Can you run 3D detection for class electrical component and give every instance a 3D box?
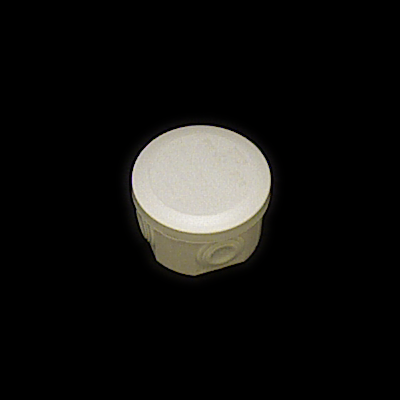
[{"bbox_3d":[0.000,0.000,0.630,0.080,0.080,0.051,0,-38,0],"label":"electrical component"}]
